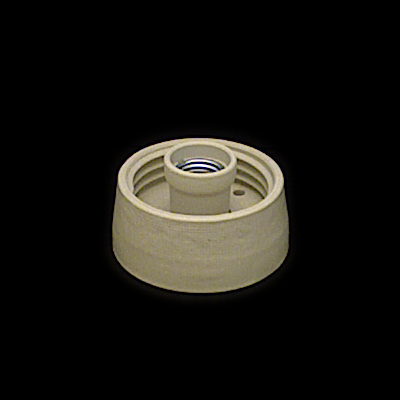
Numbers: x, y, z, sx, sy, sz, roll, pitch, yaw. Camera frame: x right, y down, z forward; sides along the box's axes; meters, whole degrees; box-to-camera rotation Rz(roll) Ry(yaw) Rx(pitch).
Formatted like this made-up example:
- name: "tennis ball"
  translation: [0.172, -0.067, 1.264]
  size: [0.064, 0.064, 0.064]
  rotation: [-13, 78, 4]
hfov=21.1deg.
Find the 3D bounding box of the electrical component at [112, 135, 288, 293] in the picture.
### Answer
- name: "electrical component"
  translation: [0.000, 0.000, 0.641]
  size: [0.108, 0.061, 0.106]
  rotation: [1, 32, 0]
